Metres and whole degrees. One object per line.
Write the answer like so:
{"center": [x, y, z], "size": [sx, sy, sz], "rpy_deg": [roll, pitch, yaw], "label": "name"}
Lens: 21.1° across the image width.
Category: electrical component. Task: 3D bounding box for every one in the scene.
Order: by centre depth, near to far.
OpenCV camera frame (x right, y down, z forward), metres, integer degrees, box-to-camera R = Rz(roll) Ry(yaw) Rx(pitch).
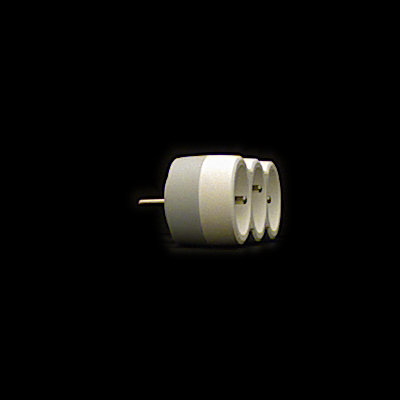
{"center": [0.000, 0.000, 0.659], "size": [0.073, 0.052, 0.139], "rpy_deg": [0, 0, 15], "label": "electrical component"}
